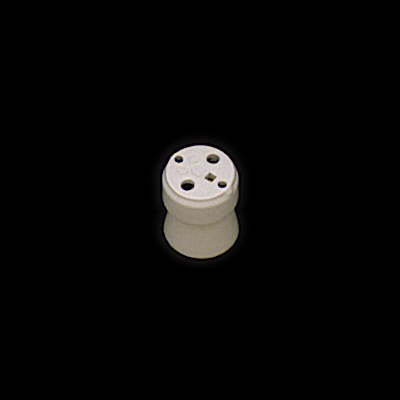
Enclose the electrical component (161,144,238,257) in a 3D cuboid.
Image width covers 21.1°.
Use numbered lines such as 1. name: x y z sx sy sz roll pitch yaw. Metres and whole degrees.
1. electrical component: 0.000 0.000 0.629 0.045 0.044 0.055 0 -37 0
